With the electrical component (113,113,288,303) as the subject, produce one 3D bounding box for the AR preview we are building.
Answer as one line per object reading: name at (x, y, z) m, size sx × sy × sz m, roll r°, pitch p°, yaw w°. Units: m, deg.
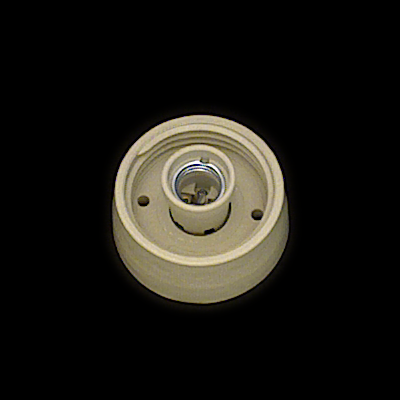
electrical component at (0.000, 0.000, 0.634) m, size 0.108 × 0.108 × 0.060 m, roll 0°, pitch -27°, yaw 0°
